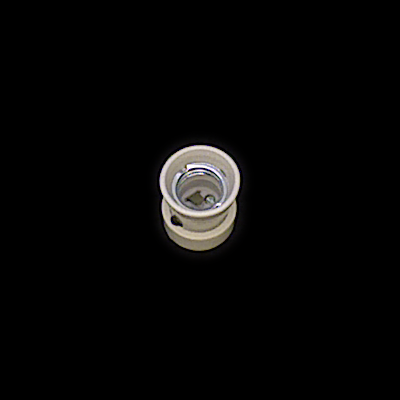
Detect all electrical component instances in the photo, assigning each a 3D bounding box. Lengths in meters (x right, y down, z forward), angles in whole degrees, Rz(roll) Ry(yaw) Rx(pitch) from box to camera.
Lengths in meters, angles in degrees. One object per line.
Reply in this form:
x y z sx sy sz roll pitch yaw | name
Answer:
0.000 0.000 0.628 0.045 0.045 0.055 0 -26 0 | electrical component
